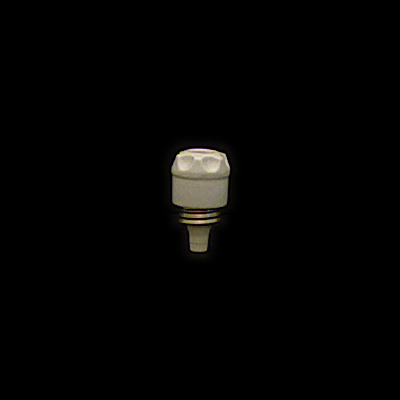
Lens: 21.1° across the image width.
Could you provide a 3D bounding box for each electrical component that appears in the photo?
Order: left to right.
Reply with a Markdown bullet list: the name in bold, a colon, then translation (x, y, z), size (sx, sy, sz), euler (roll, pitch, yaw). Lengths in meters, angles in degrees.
- **electrical component**: translation (0.000, 0.000, 0.651), size (0.035, 0.062, 0.035), euler (1, 12, 0)
